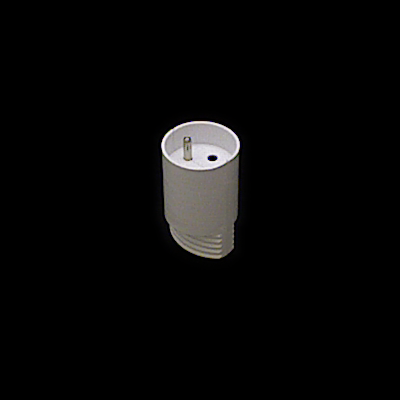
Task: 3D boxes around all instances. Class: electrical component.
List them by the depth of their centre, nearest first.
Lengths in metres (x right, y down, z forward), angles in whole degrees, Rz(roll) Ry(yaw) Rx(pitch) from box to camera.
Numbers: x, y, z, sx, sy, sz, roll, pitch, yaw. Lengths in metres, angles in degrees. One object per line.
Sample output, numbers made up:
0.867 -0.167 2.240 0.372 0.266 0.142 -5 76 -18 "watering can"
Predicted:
0.000 0.000 0.622 0.043 0.082 0.042 0 41 0 "electrical component"
